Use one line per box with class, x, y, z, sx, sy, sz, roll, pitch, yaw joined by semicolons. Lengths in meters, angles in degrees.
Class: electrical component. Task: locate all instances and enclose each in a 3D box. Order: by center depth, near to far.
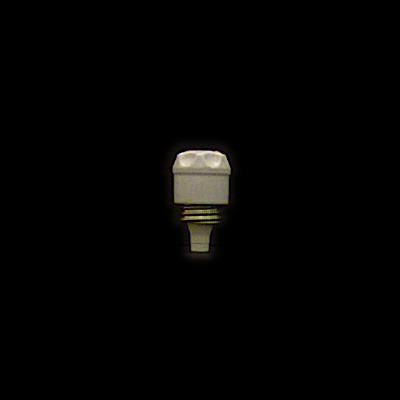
electrical component;0.000;0.000;0.655;0.035;0.061;0.035;1;2;0
